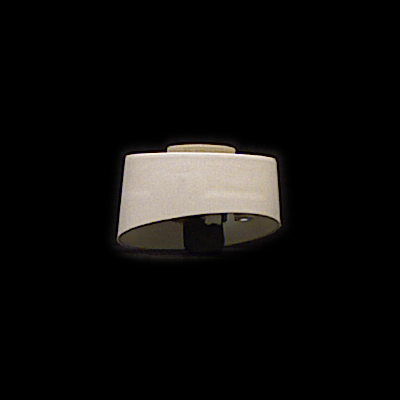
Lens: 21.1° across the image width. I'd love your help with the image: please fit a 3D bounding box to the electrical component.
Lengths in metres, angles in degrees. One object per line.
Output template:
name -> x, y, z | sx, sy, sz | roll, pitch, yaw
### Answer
electrical component -> 0.000, 0.000, 0.649 | 0.099, 0.064, 0.099 | 1, 0, 0
